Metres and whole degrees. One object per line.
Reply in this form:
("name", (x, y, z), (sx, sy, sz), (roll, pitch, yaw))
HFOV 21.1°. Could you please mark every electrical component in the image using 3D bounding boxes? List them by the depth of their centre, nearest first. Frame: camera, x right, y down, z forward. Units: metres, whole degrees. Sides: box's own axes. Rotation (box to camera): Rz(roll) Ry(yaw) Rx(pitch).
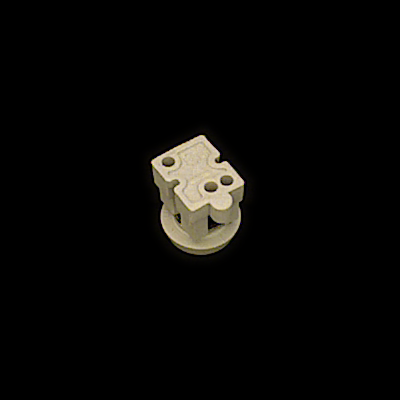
("electrical component", (0.000, 0.000, 0.638), (0.048, 0.066, 0.055), (-28, -33, -18))
